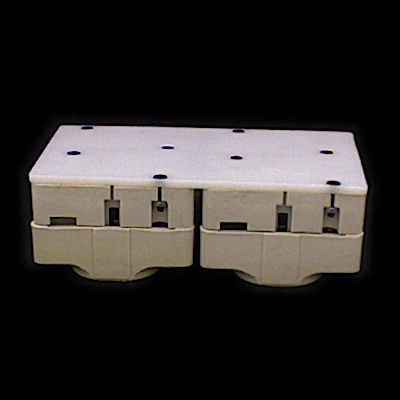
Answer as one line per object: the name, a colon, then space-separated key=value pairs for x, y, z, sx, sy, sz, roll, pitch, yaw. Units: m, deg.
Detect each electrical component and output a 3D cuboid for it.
electrical component: x=0.000 y=0.000 z=0.638 sx=0.186 sy=0.061 sz=0.104 roll=2 pitch=20 yaw=2
